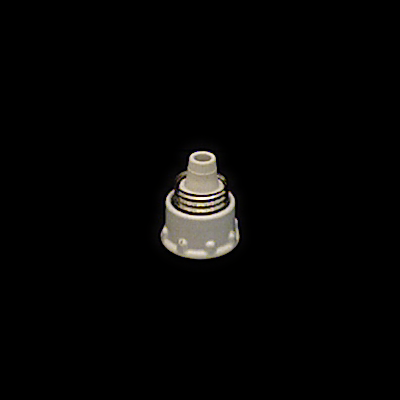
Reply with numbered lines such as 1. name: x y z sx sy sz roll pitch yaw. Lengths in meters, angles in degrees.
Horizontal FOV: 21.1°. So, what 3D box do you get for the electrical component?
1. electrical component: 0.000 0.000 0.643 0.048 0.063 0.047 2 32 -1
